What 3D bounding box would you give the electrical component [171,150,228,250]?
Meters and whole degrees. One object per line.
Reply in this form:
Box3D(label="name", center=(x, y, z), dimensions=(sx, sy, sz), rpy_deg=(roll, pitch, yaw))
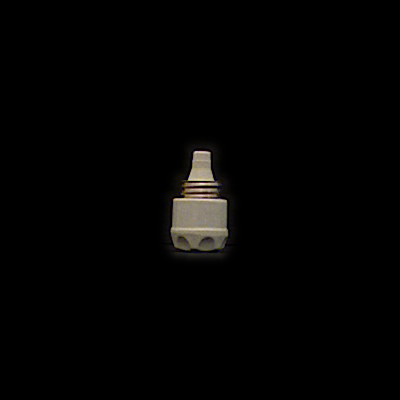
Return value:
Box3D(label="electrical component", center=(0.000, 0.000, 0.662), dimensions=(0.035, 0.061, 0.035), rpy_deg=(2, 1, 0))
